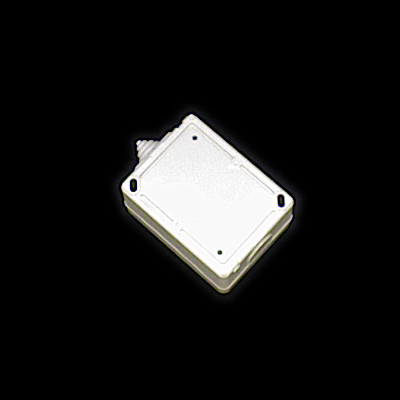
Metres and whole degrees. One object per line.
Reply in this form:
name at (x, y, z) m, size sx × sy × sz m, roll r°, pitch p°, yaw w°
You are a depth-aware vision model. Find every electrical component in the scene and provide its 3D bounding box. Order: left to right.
electrical component at (0.000, 0.000, 0.627) m, size 0.096 × 0.062 × 0.061 m, roll 41°, pitch -12°, yaw 11°
